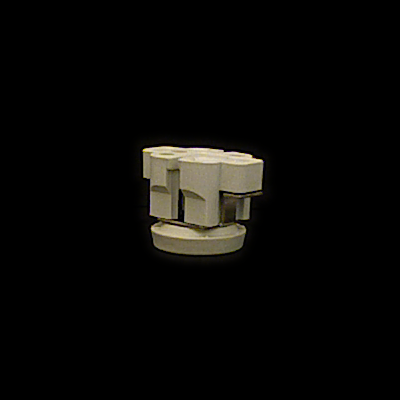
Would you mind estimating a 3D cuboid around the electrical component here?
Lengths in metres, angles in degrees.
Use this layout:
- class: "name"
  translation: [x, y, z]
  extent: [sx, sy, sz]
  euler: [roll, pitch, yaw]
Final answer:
- class: "electrical component"
  translation: [0.000, 0.000, 0.651]
  extent: [0.077, 0.057, 0.058]
  euler: [11, 14, 36]
